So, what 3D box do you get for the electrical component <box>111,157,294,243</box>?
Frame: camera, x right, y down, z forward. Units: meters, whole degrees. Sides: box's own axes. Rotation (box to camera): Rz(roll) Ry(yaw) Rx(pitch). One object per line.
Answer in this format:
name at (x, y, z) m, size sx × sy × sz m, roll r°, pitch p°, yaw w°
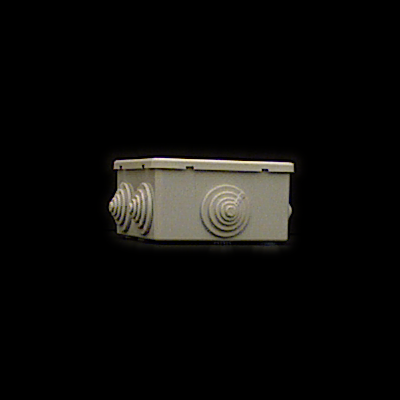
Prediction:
electrical component at (0.000, 0.000, 0.657) m, size 0.100 × 0.048 × 0.099 m, roll 1°, pitch 1°, yaw -21°
